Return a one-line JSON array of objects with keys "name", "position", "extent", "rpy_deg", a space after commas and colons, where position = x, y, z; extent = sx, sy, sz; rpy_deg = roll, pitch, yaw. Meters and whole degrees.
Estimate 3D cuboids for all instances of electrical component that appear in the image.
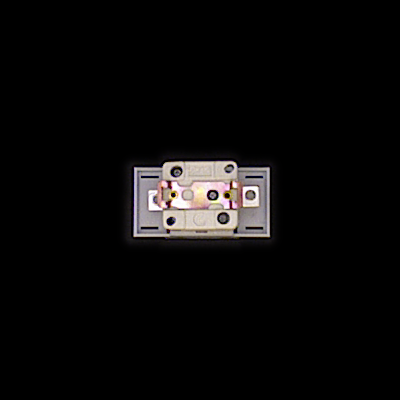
[{"name": "electrical component", "position": [0.000, 0.000, 0.626], "extent": [0.081, 0.042, 0.063], "rpy_deg": [-1, -6, 0]}]
